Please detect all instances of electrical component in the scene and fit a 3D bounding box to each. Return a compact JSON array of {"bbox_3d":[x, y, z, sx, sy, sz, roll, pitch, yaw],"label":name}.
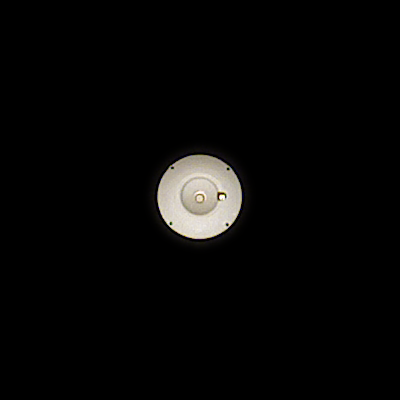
[{"bbox_3d":[0.000,0.000,0.635,0.048,0.048,0.062,0,-6,1],"label":"electrical component"}]
